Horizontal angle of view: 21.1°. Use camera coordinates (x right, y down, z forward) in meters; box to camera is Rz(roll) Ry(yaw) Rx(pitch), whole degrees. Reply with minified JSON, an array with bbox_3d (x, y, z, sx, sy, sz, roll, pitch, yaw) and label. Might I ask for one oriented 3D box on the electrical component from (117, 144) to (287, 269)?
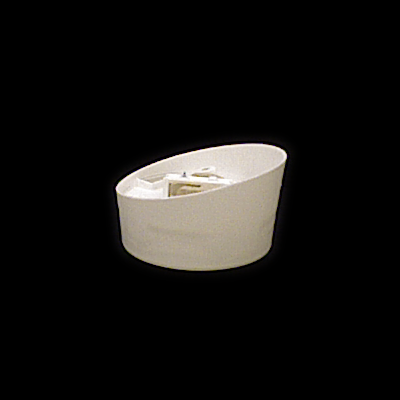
[{"bbox_3d":[0.000,0.000,0.638,0.099,0.065,0.097,2,20,-1],"label":"electrical component"}]
